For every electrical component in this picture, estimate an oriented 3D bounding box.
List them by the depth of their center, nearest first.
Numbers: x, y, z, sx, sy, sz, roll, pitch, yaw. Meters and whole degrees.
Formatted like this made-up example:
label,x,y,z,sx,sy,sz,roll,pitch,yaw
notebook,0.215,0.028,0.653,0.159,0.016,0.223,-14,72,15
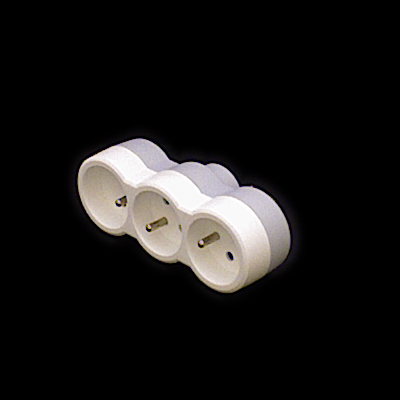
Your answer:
label,x,y,z,sx,sy,sz,roll,pitch,yaw
electrical component,0.000,0.000,0.638,0.137,0.053,0.073,25,37,35
